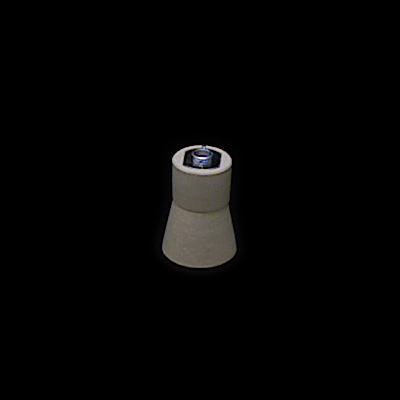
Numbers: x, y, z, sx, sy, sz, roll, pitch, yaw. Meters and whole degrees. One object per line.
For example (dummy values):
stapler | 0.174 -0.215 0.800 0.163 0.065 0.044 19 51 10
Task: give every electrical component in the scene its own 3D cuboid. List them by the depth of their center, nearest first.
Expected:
electrical component | 0.000 0.000 0.632 0.044 0.066 0.044 2 31 -1
